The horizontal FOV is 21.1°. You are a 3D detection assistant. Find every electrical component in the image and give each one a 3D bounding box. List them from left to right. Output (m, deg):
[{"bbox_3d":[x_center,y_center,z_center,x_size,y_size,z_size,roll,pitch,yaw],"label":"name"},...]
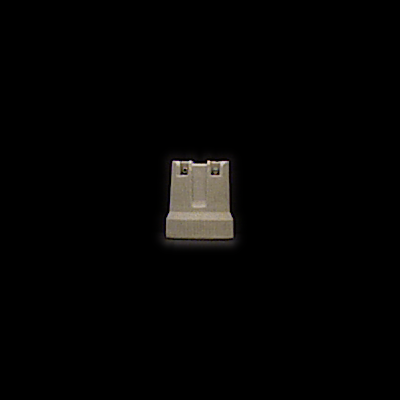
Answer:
[{"bbox_3d":[0.000,0.000,0.649,0.040,0.046,0.040,1,1,0],"label":"electrical component"}]
